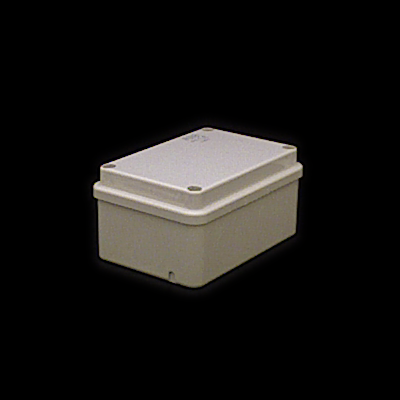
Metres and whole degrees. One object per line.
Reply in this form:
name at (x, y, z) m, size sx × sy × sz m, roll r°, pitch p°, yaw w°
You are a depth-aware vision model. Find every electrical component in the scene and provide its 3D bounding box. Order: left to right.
electrical component at (0.000, 0.000, 0.640) m, size 0.077 × 0.058 × 0.113 m, roll 15°, pitch 25°, yaw 33°
